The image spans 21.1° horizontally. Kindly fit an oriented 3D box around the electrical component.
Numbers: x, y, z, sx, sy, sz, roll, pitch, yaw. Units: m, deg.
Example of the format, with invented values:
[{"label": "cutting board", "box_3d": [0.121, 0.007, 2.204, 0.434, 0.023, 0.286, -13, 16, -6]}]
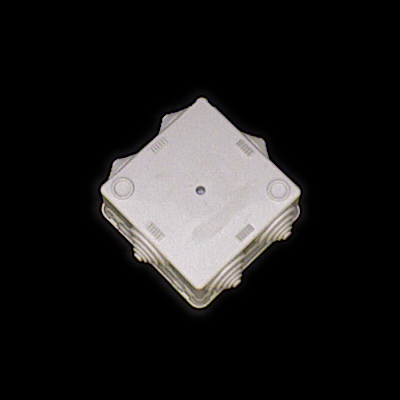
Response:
[{"label": "electrical component", "box_3d": [0.000, 0.000, 0.632, 0.100, 0.100, 0.048, -43, -12, -11]}]
